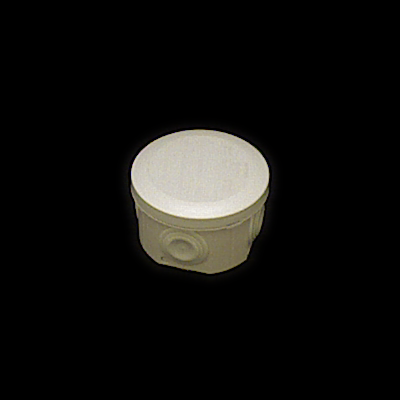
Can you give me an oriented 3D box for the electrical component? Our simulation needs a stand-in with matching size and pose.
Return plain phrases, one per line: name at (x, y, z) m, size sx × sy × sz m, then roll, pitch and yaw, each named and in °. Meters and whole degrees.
electrical component at (0.000, 0.000, 0.631) m, size 0.080 × 0.051 × 0.080 m, roll 0°, pitch 42°, yaw 0°
